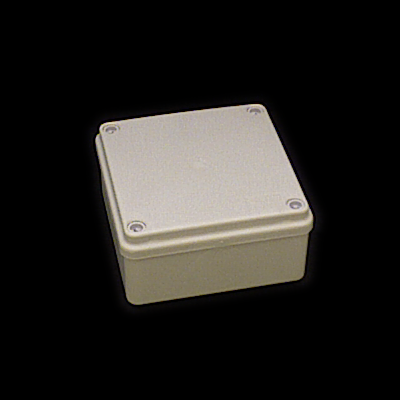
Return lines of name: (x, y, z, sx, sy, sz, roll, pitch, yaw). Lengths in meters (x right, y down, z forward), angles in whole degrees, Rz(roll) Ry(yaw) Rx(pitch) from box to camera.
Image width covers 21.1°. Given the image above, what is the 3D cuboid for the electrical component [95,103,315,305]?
electrical component: (0.000, 0.000, 0.633, 0.109, 0.057, 0.107, -8, 42, -10)
